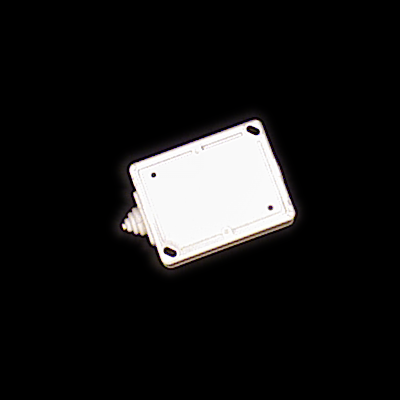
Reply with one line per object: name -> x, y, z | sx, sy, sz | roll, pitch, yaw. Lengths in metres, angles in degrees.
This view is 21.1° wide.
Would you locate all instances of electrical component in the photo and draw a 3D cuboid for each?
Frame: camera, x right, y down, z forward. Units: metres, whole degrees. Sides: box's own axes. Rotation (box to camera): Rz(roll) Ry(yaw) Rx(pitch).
electrical component -> 0.000, 0.000, 0.629 | 0.096, 0.062, 0.061 | -20, -6, -1
